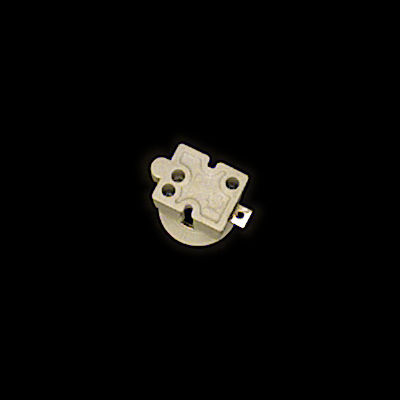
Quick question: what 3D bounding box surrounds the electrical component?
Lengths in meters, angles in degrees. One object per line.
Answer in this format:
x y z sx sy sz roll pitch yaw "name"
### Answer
0.000 0.000 0.637 0.066 0.049 0.055 26 -15 6 "electrical component"
